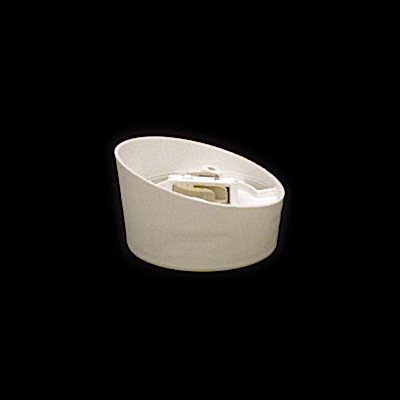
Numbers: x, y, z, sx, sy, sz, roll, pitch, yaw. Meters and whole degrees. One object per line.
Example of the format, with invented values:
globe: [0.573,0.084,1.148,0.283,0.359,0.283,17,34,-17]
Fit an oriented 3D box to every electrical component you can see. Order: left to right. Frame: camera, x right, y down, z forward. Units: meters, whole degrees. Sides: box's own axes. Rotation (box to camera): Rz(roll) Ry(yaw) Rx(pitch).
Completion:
electrical component: [0.000,0.000,0.637,0.099,0.065,0.097,0,21,0]
